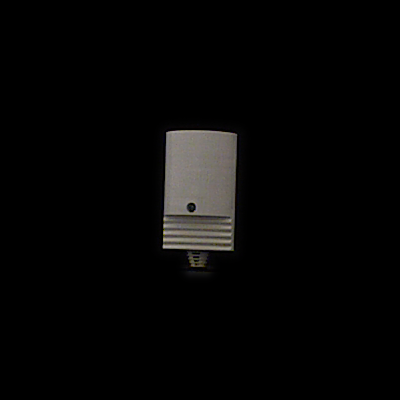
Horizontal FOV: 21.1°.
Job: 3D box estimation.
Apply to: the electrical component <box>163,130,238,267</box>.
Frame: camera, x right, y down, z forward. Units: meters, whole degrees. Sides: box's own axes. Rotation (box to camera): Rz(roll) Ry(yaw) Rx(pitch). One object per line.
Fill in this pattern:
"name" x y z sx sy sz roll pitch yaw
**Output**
"electrical component" 0.000 0.000 0.651 0.043 0.081 0.043 2 2 0
